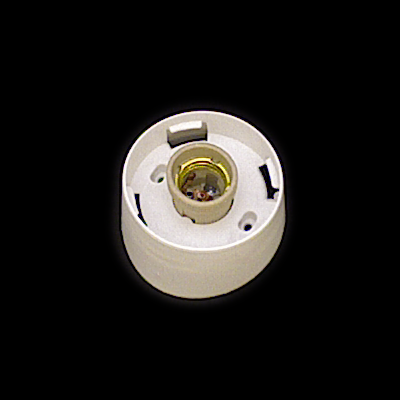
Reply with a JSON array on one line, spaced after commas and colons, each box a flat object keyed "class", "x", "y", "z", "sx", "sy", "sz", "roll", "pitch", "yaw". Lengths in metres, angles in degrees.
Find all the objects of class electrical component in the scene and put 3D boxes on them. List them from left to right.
[{"class": "electrical component", "x": 0.000, "y": 0.000, "z": 0.626, "sx": 0.099, "sy": 0.099, "sz": 0.064, "roll": 0, "pitch": -27, "yaw": 0}]
